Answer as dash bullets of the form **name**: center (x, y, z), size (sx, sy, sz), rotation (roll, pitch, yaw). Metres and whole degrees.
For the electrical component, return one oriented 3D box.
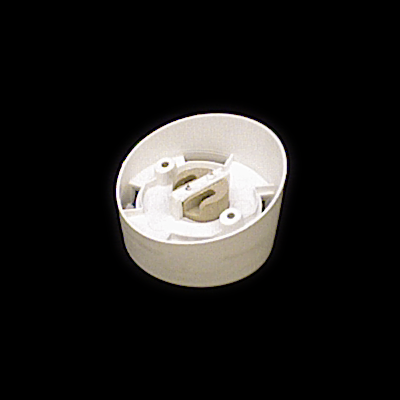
- **electrical component**: center (0.000, 0.000, 0.630), size (0.099, 0.065, 0.097), rotation (1, 41, 0)
